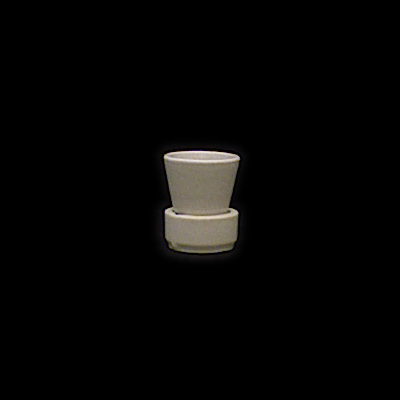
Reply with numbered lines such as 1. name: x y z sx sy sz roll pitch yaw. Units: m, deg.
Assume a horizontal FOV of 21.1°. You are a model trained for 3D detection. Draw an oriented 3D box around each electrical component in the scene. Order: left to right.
1. electrical component: 0.000 0.000 0.644 0.045 0.055 0.044 1 10 0
